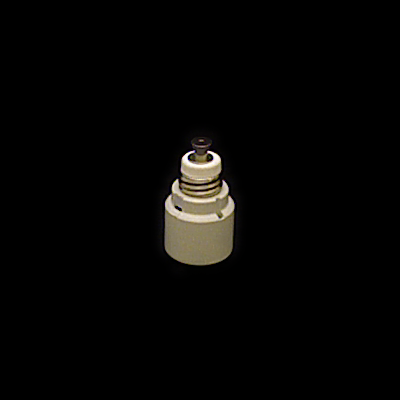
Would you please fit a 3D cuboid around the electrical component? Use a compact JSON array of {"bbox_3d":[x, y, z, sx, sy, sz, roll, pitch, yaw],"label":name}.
[{"bbox_3d":[0.000,0.000,0.631,0.040,0.079,0.039,2,32,-1],"label":"electrical component"}]
